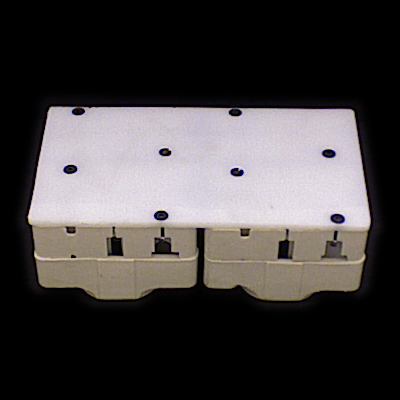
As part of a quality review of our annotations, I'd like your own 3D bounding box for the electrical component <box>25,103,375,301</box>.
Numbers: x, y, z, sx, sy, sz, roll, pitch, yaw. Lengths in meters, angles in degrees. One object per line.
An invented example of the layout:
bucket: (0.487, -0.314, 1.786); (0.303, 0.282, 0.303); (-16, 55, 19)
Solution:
electrical component: (0.000, 0.000, 0.630); (0.186, 0.061, 0.104); (1, 42, 0)
